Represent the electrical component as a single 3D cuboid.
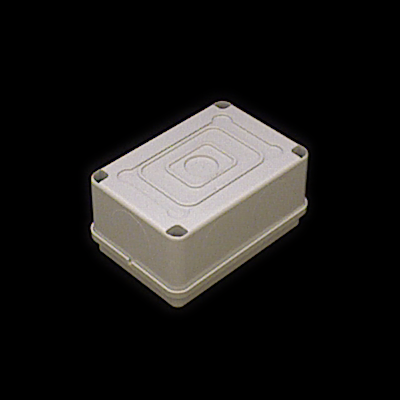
[{"bbox_3d":[0.000,0.000,0.631,0.113,0.057,0.077,-33,52,-31],"label":"electrical component"}]
